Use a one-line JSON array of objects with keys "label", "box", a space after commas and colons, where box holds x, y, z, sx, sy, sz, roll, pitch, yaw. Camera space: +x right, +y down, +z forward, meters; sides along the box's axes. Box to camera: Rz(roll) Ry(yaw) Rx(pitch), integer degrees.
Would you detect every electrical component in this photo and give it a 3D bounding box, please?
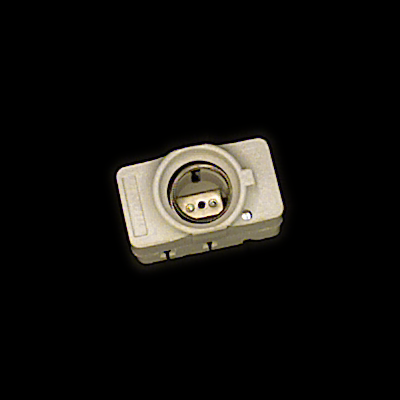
[{"label": "electrical component", "box": [0.000, 0.000, 0.636, 0.090, 0.050, 0.055, -13, -16, -4]}]
